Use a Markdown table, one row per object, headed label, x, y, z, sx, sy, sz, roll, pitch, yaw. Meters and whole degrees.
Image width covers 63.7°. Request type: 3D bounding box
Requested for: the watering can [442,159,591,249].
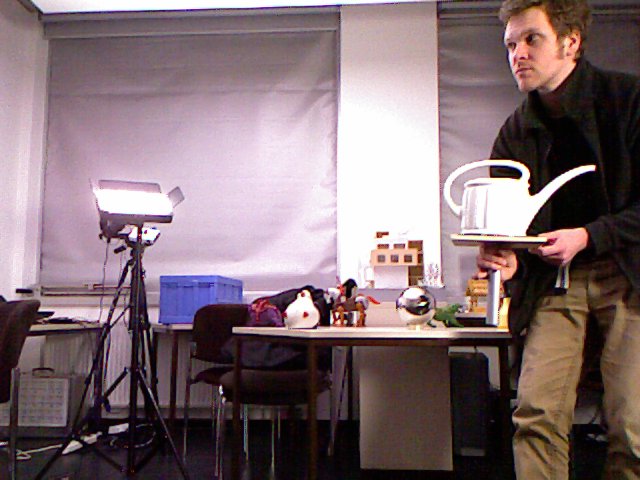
| label | x | y | z | sx | sy | sz | roll | pitch | yaw |
| --- | --- | --- | --- | --- | --- | --- | --- | --- | --- |
| watering can | 0.478 | -0.089 | 1.272 | 0.348 | 0.224 | 0.104 | 2 | 2 | 14 |
